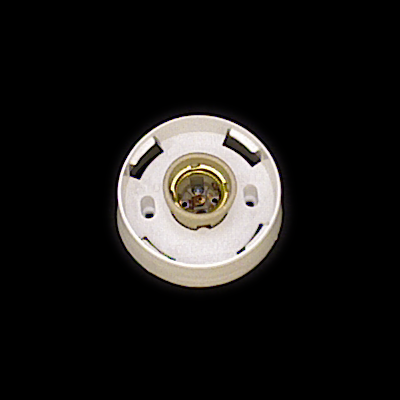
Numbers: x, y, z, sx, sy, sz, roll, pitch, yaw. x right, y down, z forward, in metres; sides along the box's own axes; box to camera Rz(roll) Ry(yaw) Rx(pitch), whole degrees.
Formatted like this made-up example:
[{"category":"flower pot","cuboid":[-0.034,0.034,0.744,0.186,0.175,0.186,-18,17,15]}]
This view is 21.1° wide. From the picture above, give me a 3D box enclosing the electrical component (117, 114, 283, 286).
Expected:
[{"category":"electrical component","cuboid":[0.000,0.000,0.625,0.099,0.099,0.064,0,-17,0]}]
